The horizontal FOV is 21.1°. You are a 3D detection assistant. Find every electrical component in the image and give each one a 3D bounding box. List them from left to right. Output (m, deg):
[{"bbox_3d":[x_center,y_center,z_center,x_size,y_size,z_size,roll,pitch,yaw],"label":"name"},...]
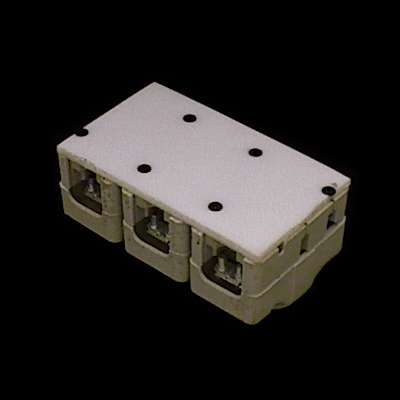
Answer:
[{"bbox_3d":[0.000,0.000,0.636,0.148,0.063,0.089,29,49,29],"label":"electrical component"}]
